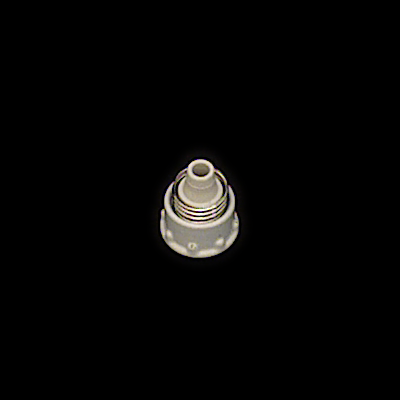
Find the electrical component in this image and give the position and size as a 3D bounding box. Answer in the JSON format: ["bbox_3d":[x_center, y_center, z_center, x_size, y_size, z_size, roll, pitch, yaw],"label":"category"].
[{"bbox_3d":[0.000,0.000,0.635,0.048,0.048,0.062,0,-36,-1],"label":"electrical component"}]
